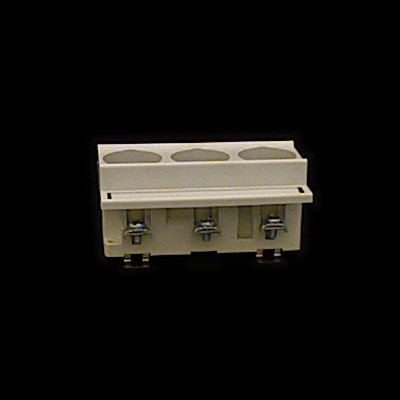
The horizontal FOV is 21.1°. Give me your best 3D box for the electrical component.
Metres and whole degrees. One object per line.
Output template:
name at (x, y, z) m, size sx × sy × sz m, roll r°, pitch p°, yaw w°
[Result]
electrical component at (0.000, 0.000, 0.652) m, size 0.122 × 0.064 × 0.077 m, roll -2°, pitch 20°, yaw -7°
